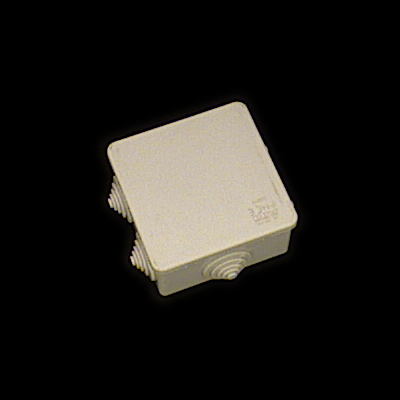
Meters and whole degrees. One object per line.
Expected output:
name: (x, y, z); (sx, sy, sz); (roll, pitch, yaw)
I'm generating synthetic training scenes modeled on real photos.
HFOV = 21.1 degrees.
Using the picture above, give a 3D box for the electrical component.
electrical component: (0.000, 0.000, 0.640); (0.100, 0.099, 0.048); (-19, -25, -9)
